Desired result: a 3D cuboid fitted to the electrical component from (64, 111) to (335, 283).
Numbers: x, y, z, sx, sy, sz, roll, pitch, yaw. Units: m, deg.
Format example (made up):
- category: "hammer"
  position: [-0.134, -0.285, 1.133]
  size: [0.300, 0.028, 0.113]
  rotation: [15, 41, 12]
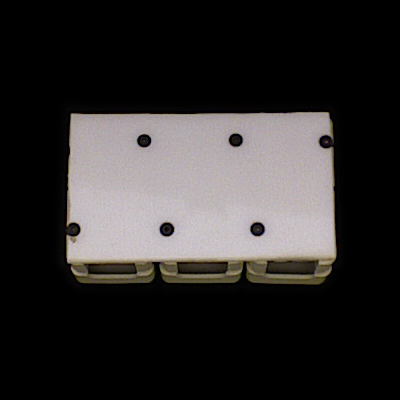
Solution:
- category: "electrical component"
  position: [0.000, 0.000, 0.631]
  size: [0.150, 0.089, 0.062]
  rotation: [0, -17, 0]
